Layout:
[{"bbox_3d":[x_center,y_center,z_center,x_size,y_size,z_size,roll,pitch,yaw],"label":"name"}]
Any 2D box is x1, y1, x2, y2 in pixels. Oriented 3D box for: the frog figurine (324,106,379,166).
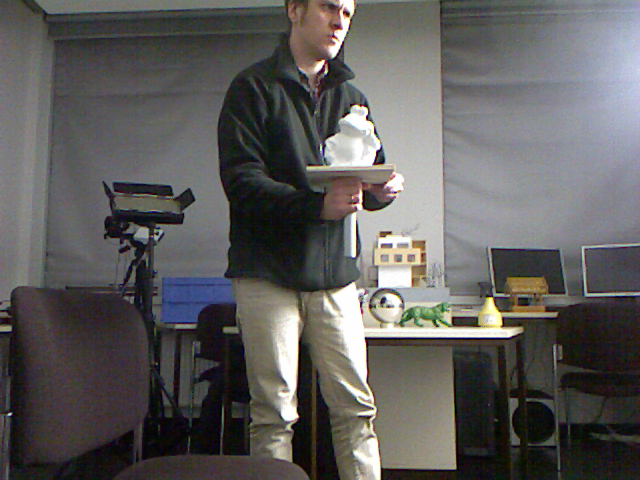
[{"bbox_3d":[0.075,-0.246,1.269,0.137,0.159,0.123,-4,3,15],"label":"frog figurine"}]
